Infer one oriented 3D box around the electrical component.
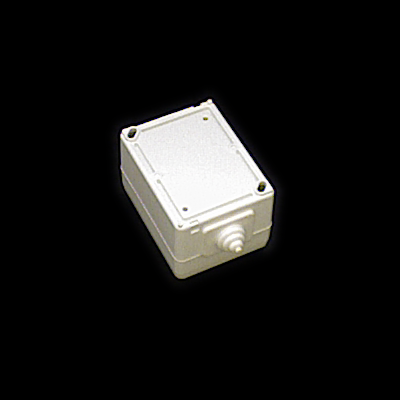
[{"bbox_3d":[0.000,0.000,0.624,0.062,0.096,0.061,-21,-35,-17],"label":"electrical component"}]
